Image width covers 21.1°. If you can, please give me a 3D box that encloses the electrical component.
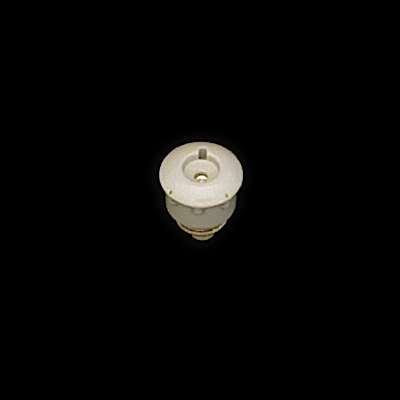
[{"bbox_3d":[0.000,0.000,0.635,0.048,0.048,0.062,0,-37,0],"label":"electrical component"}]
